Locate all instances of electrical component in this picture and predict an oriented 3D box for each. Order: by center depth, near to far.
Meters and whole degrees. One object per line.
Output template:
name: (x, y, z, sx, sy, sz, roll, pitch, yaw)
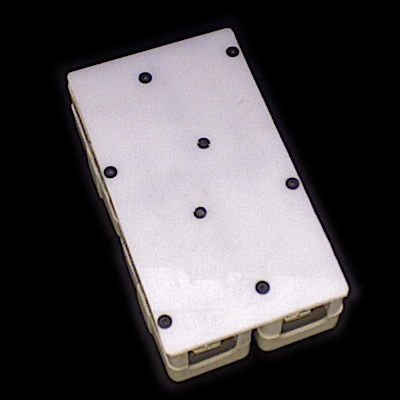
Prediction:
electrical component: (0.000, 0.000, 0.625, 0.106, 0.186, 0.060, -18, -26, -9)
